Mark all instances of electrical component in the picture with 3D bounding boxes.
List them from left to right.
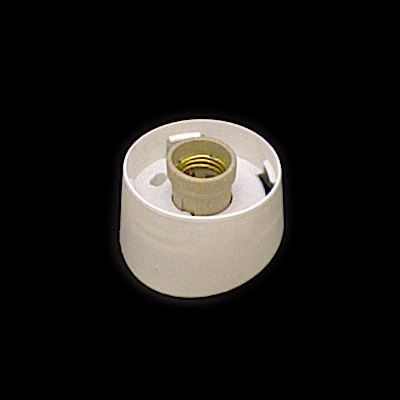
[{"bbox_3d":[0.000,0.000,0.630,0.099,0.065,0.098,0,42,0],"label":"electrical component"}]
